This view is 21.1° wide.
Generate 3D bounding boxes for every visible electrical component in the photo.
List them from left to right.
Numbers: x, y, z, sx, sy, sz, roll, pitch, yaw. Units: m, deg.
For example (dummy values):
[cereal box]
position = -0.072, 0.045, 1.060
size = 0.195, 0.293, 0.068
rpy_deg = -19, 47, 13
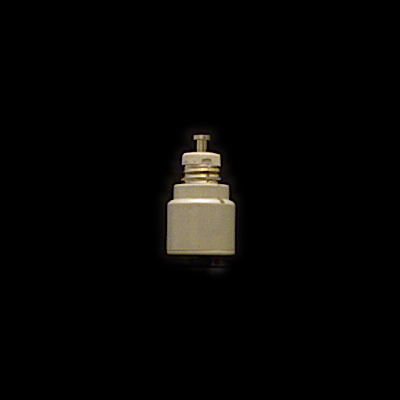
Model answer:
[electrical component]
position = 0.000, 0.000, 0.648
size = 0.040, 0.078, 0.040
rpy_deg = 0, 1, 0
